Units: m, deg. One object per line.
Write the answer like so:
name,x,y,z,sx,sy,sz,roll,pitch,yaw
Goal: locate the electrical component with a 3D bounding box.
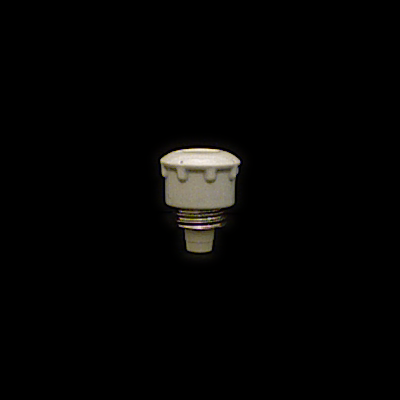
electrical component,0.000,0.000,0.649,0.048,0.062,0.048,1,11,0
